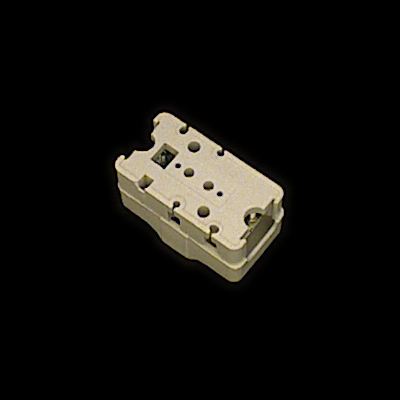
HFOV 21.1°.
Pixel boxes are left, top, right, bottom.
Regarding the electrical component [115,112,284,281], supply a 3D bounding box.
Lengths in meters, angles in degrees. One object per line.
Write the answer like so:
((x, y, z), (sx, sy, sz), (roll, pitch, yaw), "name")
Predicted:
((0.000, 0.000, 0.636), (0.089, 0.050, 0.055), (34, -21, 16), "electrical component")
